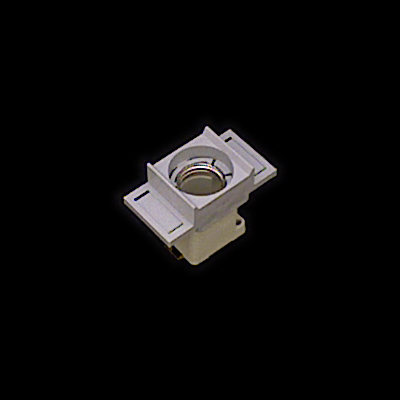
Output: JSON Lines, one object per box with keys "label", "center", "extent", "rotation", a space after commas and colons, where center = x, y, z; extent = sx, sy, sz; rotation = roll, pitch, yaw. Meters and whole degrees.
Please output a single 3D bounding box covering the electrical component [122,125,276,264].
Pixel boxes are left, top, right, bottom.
{"label": "electrical component", "center": [0.000, 0.000, 0.627], "extent": [0.081, 0.064, 0.042], "rotation": [-33, 58, -23]}
